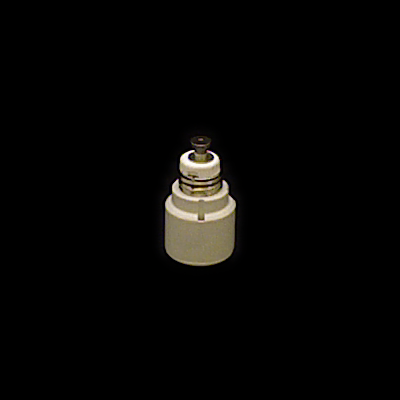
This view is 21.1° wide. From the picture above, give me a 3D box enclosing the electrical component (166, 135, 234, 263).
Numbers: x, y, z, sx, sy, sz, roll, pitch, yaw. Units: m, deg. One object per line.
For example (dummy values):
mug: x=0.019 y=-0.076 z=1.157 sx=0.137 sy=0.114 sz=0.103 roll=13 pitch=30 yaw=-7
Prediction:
electrical component: x=0.000 y=0.000 z=0.628 sx=0.040 sy=0.079 sz=0.039 roll=0 pitch=30 yaw=0
